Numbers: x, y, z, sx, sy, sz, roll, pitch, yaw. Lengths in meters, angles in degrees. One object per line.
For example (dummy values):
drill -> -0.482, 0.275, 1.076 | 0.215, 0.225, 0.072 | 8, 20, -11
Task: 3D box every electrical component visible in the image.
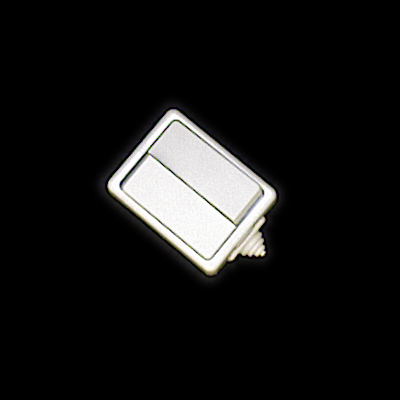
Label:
electrical component -> 0.000, 0.000, 0.627 | 0.096, 0.062, 0.061 | 40, -5, 5
